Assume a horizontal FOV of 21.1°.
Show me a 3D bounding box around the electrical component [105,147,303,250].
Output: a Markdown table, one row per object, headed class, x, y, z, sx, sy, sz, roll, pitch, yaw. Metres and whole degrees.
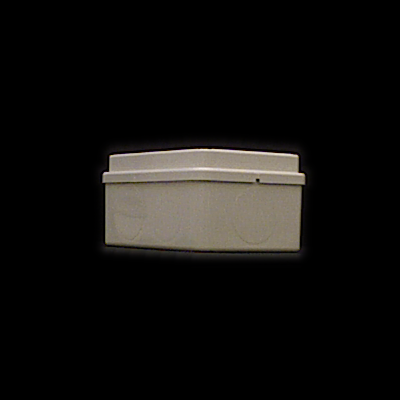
| class | x | y | z | sx | sy | sz | roll | pitch | yaw |
| --- | --- | --- | --- | --- | --- | --- | --- | --- | --- |
| electrical component | 0.000 | 0.000 | 0.651 | 0.078 | 0.057 | 0.113 | 1 | 0 | -35 |
